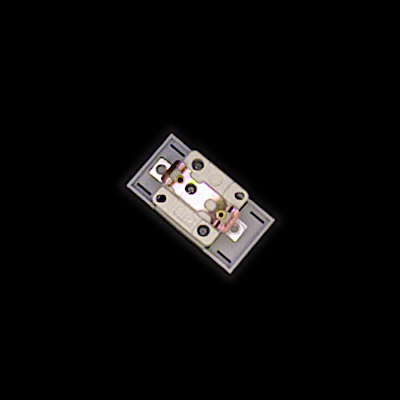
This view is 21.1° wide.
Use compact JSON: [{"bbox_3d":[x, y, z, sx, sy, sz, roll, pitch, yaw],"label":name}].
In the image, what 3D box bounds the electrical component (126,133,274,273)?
[{"bbox_3d":[0.000,0.000,0.626,0.081,0.042,0.063,39,-5,5],"label":"electrical component"}]
